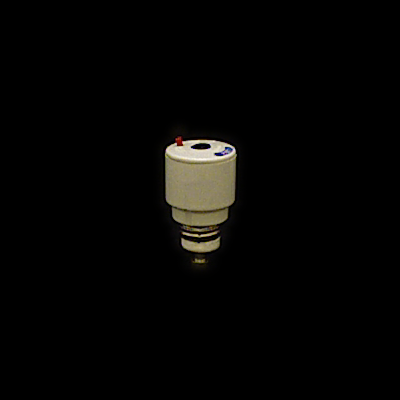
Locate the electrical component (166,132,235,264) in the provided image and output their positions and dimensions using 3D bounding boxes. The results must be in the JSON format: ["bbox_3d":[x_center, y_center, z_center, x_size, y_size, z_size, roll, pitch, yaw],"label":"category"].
[{"bbox_3d":[0.000,0.000,0.637,0.040,0.079,0.039,0,21,0],"label":"electrical component"}]
